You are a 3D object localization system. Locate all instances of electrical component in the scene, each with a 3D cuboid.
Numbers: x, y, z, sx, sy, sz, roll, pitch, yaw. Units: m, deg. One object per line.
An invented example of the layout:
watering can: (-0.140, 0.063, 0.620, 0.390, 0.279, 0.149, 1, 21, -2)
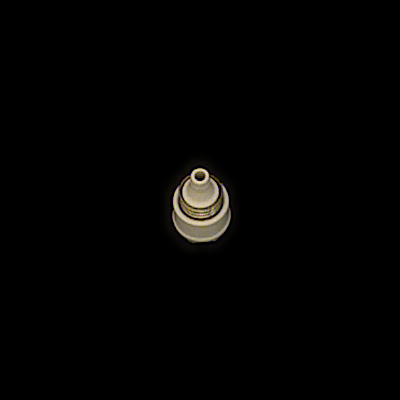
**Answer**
electrical component: (0.000, 0.000, 0.637, 0.035, 0.035, 0.061, 0, -28, 1)
